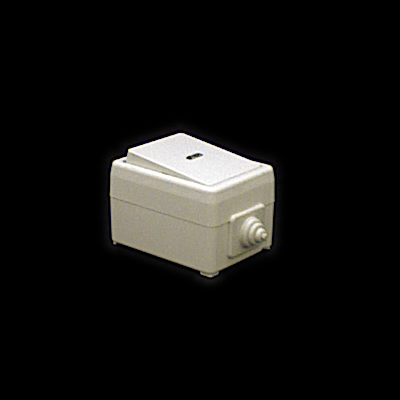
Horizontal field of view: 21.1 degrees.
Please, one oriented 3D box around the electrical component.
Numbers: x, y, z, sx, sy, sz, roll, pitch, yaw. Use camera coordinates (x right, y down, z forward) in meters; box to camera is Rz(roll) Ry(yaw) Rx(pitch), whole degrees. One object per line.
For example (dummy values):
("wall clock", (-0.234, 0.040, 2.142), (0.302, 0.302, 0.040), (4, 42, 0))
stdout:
("electrical component", (0.000, 0.000, 0.637), (0.095, 0.061, 0.061), (17, 26, 36))
